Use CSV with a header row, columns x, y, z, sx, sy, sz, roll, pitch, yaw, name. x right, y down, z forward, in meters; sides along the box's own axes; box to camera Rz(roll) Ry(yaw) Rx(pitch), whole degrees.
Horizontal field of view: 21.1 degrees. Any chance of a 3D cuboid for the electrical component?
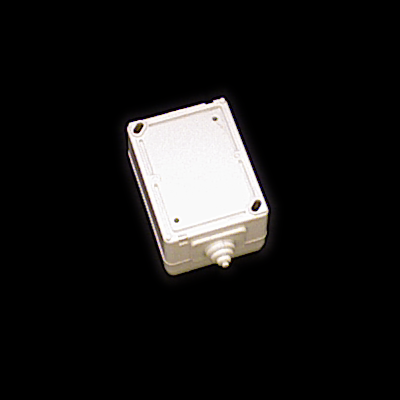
x,y,z,sx,sy,sz,roll,pitch,yaw,name
0.000,0.000,0.626,0.062,0.096,0.060,-16,-25,-8,electrical component
